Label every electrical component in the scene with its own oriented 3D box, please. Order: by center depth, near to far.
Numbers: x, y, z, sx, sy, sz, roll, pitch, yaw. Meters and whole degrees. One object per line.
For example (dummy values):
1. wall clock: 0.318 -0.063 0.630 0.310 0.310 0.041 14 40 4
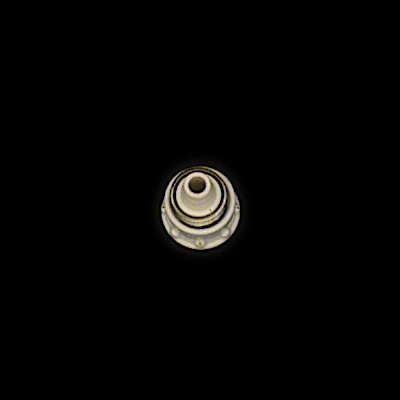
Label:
1. electrical component: 0.000 0.000 0.633 0.048 0.048 0.061 0 -17 1
